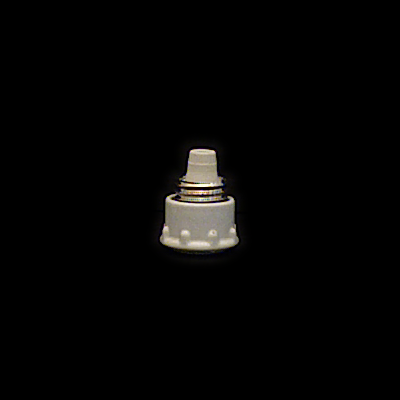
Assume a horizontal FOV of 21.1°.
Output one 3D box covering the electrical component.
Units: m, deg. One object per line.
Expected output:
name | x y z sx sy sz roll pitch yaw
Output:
electrical component | 0.000 0.000 0.652 0.048 0.062 0.048 2 12 0
